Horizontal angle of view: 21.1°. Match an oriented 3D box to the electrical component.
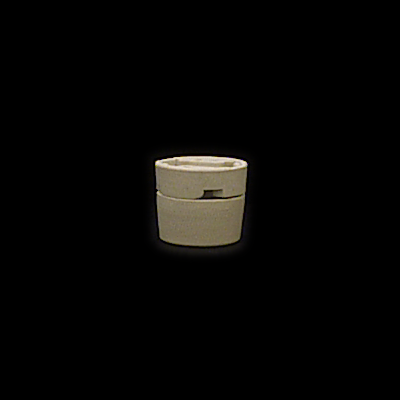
[{"bbox_3d":[0.000,0.000,0.645,0.055,0.047,0.055,2,11,0],"label":"electrical component"}]
